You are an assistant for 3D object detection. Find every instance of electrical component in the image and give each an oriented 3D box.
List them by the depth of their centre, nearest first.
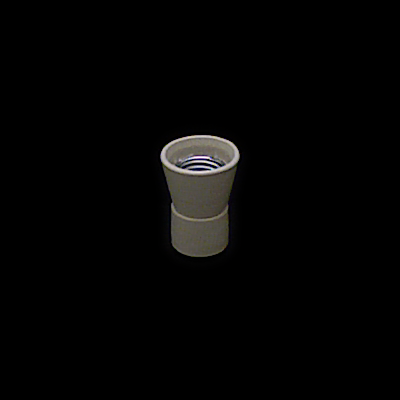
[{"bbox_3d":[0.000,0.000,0.631,0.044,0.066,0.044,1,32,0],"label":"electrical component"}]
